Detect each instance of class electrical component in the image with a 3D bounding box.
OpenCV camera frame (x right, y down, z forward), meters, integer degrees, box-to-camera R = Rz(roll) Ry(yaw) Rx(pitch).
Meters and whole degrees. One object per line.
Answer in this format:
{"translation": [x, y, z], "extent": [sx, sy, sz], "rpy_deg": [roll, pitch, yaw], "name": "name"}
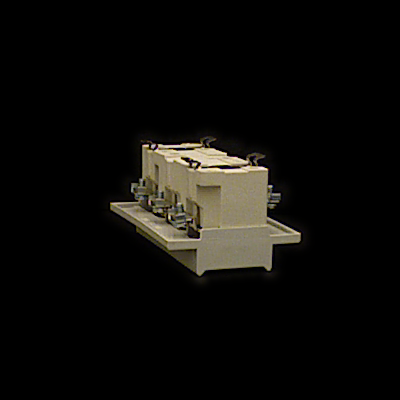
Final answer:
{"translation": [0.000, 0.000, 0.649], "extent": [0.079, 0.063, 0.119], "rpy_deg": [-4, 12, -20], "name": "electrical component"}
